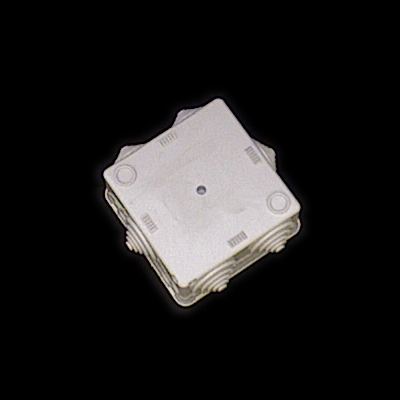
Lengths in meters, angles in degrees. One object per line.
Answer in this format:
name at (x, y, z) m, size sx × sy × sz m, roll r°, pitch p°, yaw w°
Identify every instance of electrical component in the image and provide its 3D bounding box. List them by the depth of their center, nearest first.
electrical component at (0.000, 0.000, 0.631) m, size 0.100 × 0.100 × 0.048 m, roll -33°, pitch -14°, yaw -9°
